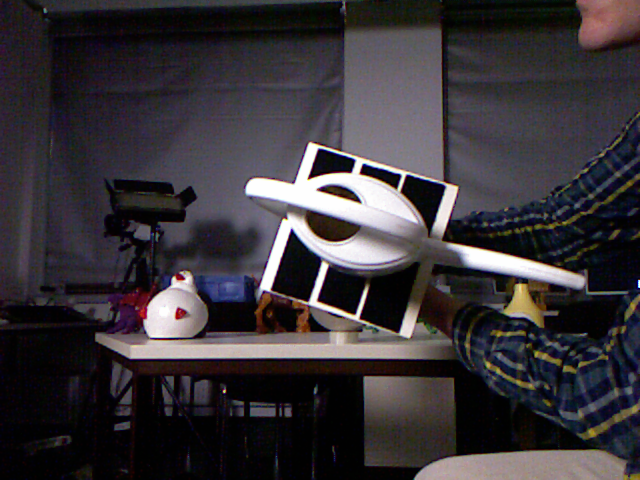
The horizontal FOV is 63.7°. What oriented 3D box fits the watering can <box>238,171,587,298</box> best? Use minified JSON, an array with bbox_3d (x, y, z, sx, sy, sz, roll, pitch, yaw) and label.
[{"bbox_3d":[0.080,0.000,0.571,0.352,0.105,0.225,19,-4,6],"label":"watering can"}]
